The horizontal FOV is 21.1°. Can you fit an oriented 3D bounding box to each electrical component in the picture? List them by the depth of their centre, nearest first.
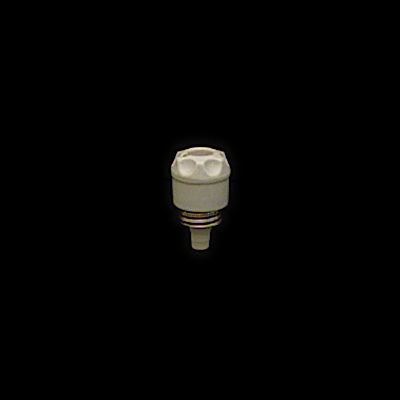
[{"bbox_3d":[0.000,0.000,0.645,0.035,0.062,0.035,1,22,0],"label":"electrical component"}]
